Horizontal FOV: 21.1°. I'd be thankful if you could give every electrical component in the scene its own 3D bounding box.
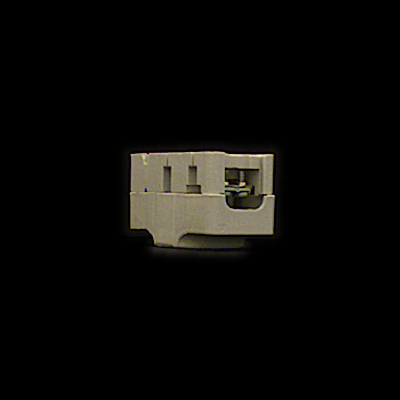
[{"bbox_3d":[0.000,0.000,0.655,0.050,0.056,0.088,-1,1,-36],"label":"electrical component"}]
